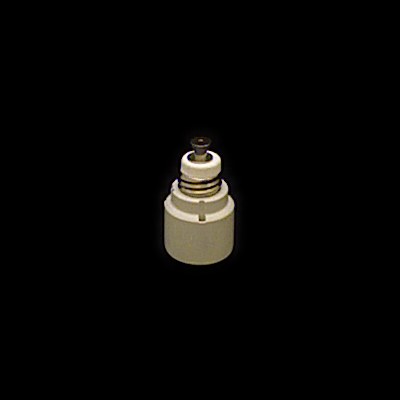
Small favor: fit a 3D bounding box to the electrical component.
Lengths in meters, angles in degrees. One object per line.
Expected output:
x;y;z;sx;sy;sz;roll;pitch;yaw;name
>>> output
0.000;0.000;0.631;0.040;0.079;0.039;1;32;-1;electrical component
